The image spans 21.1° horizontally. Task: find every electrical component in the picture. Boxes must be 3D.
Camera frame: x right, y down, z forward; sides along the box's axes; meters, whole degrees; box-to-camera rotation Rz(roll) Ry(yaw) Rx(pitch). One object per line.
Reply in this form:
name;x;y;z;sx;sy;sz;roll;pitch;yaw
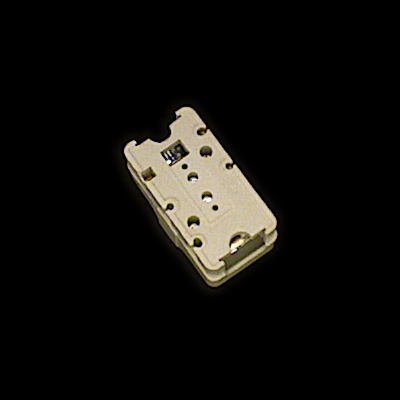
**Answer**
electrical component;0.000;0.000;0.636;0.050;0.089;0.055;-34;-14;-8
